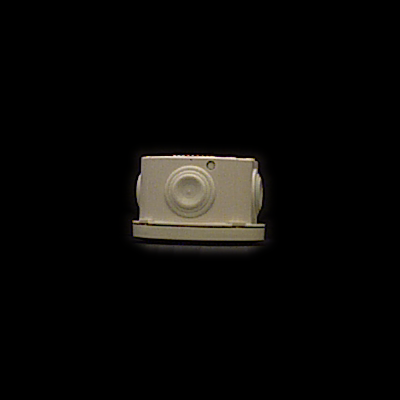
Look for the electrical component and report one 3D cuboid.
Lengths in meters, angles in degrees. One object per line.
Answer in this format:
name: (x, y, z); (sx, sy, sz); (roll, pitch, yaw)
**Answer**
electrical component: (0.000, 0.000, 0.649); (0.080, 0.051, 0.080); (2, 1, 0)
